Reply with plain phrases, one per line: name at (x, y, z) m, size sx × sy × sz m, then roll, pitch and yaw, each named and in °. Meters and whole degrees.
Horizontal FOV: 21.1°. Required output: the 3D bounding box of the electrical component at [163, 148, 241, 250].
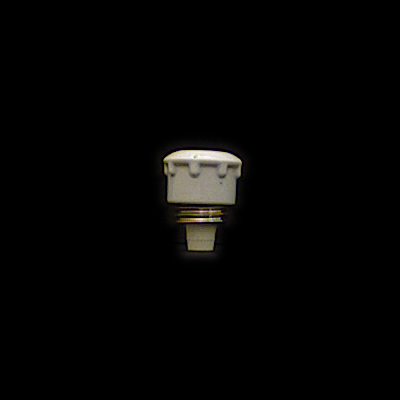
electrical component at (0.000, 0.000, 0.659) m, size 0.048 × 0.062 × 0.048 m, roll 2°, pitch 2°, yaw 1°
